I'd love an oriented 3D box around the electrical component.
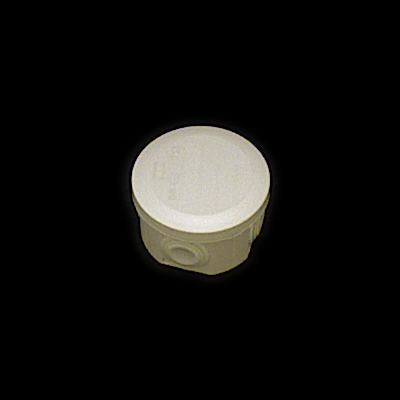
[{"bbox_3d":[0.000,0.000,0.633,0.080,0.080,0.051,0,-38,-1],"label":"electrical component"}]
